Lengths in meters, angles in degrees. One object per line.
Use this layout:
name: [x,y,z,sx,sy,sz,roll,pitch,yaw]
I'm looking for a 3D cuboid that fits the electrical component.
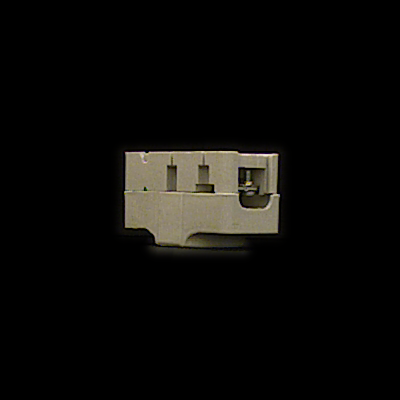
electrical component: [0.000,0.000,0.655,0.088,0.056,0.050,2,2,44]
